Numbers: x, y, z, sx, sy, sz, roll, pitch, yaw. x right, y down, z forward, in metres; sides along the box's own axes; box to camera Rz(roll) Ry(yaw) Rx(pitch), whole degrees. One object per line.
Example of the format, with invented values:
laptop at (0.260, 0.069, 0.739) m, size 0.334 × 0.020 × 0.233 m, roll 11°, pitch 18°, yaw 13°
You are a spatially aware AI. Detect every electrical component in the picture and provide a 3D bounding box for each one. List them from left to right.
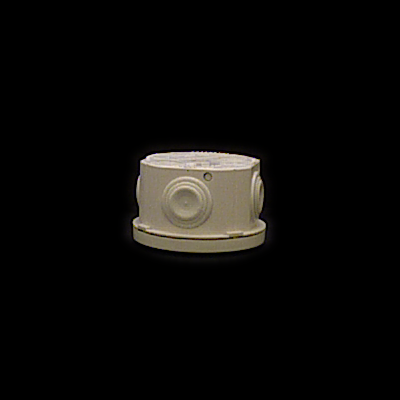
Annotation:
electrical component at (0.000, 0.000, 0.644) m, size 0.080 × 0.051 × 0.079 m, roll 2°, pitch 11°, yaw 0°
